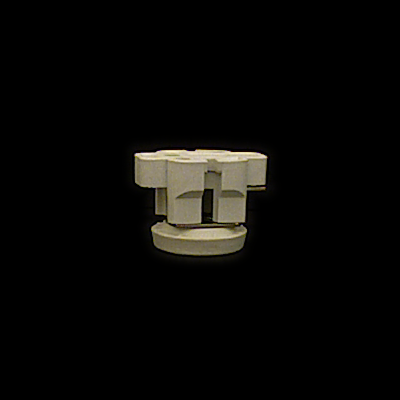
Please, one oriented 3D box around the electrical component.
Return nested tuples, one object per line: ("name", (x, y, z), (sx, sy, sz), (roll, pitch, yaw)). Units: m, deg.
("electrical component", (0.000, 0.000, 0.653), (0.079, 0.057, 0.057), (-1, 11, -18))
